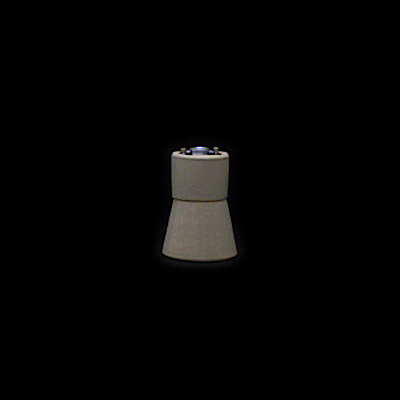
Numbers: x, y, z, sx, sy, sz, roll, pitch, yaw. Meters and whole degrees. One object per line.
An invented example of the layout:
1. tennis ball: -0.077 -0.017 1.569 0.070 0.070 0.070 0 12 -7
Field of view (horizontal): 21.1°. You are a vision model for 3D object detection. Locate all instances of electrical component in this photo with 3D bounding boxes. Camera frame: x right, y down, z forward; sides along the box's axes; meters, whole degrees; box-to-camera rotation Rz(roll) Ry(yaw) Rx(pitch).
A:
1. electrical component: 0.000 0.000 0.645 0.044 0.066 0.044 1 10 0
